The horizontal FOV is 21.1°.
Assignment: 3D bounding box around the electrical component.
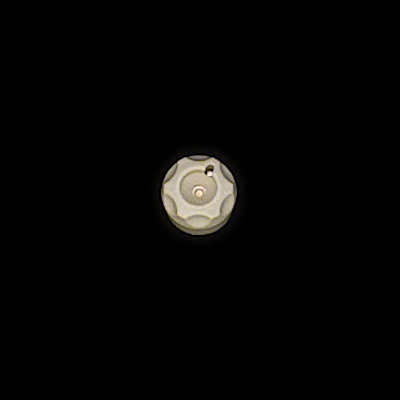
[{"bbox_3d":[0.000,0.000,0.633,0.043,0.043,0.061,0,-15,1],"label":"electrical component"}]
